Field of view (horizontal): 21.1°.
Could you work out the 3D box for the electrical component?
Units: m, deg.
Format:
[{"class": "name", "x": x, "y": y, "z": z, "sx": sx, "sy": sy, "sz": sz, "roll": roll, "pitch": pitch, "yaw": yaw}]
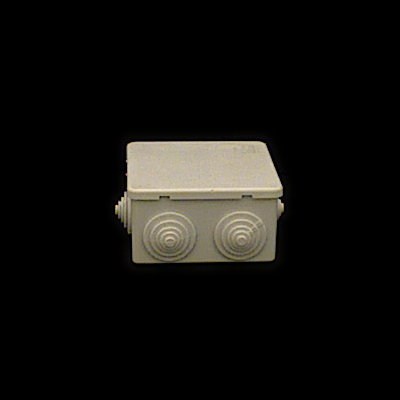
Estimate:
[{"class": "electrical component", "x": 0.000, "y": 0.000, "z": 0.650, "sx": 0.100, "sy": 0.049, "sz": 0.098, "roll": 0, "pitch": 22, "yaw": -4}]
